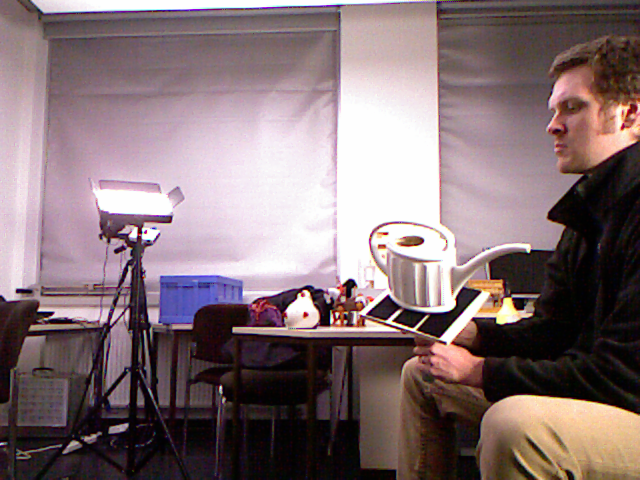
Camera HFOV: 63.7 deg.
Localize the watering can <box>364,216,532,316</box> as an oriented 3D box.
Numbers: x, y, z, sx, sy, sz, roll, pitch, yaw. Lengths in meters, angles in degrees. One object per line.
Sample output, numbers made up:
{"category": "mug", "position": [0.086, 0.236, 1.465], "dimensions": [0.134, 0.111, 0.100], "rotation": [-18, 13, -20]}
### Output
{"category": "watering can", "position": [0.246, 0.062, 1.052], "dimensions": [0.349, 0.220, 0.106], "rotation": [12, 35, 33]}
